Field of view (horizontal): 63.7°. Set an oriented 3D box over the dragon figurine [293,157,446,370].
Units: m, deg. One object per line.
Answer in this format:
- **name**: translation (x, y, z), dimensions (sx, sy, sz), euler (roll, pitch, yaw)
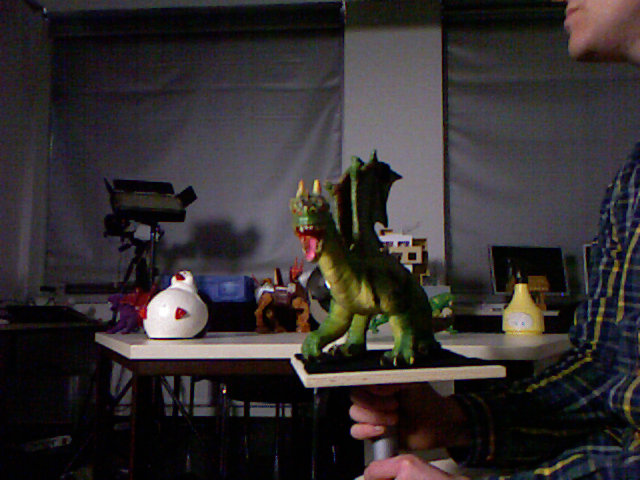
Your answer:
- **dragon figurine**: translation (0.080, 0.019, 0.628), dimensions (0.122, 0.243, 0.410), euler (-3, -2, 28)
